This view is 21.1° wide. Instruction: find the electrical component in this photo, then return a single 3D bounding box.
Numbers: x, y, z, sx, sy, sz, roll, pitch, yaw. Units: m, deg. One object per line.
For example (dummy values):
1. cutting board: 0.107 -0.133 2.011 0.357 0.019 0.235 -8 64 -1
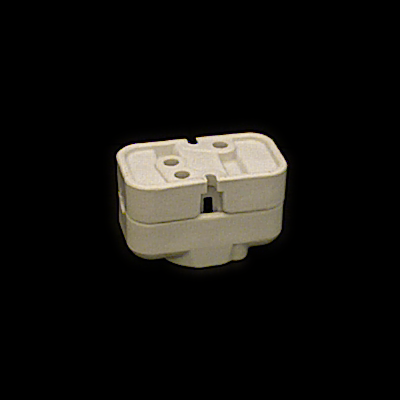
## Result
1. electrical component: 0.000 0.000 0.640 0.095 0.060 0.053 -7 33 -13
